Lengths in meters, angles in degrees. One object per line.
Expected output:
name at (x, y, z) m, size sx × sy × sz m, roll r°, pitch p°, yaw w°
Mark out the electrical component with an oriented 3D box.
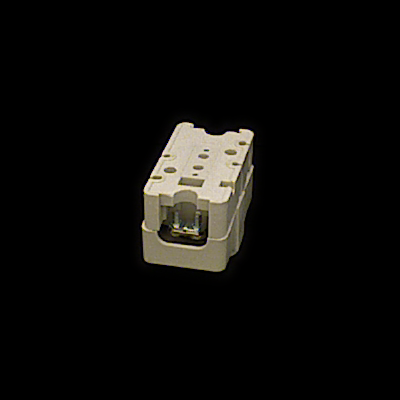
electrical component at (0.000, 0.000, 0.643) m, size 0.050 × 0.056 × 0.089 m, roll 8°, pitch 33°, yaw 10°
